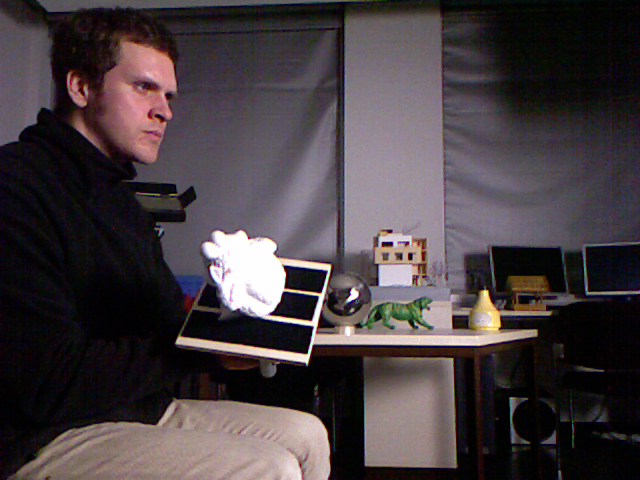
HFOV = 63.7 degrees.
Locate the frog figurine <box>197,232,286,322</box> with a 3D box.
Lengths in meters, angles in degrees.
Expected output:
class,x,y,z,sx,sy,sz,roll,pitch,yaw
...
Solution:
class,x,y,z,sx,sy,sz,roll,pitch,yaw
frog figurine,-0.115,0.045,0.782,0.124,0.156,0.140,28,54,24
